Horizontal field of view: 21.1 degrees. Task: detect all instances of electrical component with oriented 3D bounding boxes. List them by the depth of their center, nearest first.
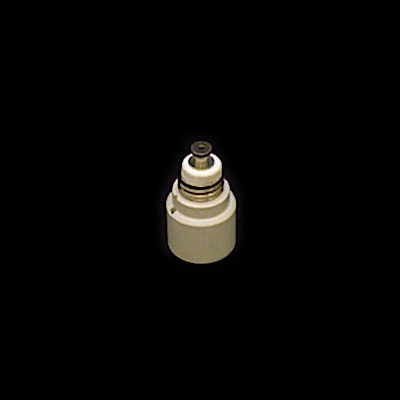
[{"bbox_3d":[0.000,0.000,0.625,0.040,0.079,0.039,0,43,0],"label":"electrical component"}]
